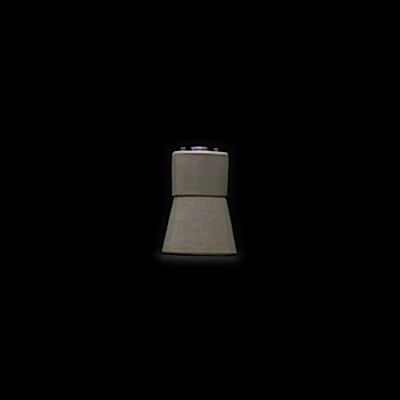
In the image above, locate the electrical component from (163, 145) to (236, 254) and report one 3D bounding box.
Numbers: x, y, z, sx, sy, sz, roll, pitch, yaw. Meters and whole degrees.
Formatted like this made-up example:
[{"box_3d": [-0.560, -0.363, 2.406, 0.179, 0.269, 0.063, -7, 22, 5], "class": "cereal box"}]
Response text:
[{"box_3d": [0.000, 0.000, 0.651, 0.044, 0.065, 0.044, 1, 0, 0], "class": "electrical component"}]
